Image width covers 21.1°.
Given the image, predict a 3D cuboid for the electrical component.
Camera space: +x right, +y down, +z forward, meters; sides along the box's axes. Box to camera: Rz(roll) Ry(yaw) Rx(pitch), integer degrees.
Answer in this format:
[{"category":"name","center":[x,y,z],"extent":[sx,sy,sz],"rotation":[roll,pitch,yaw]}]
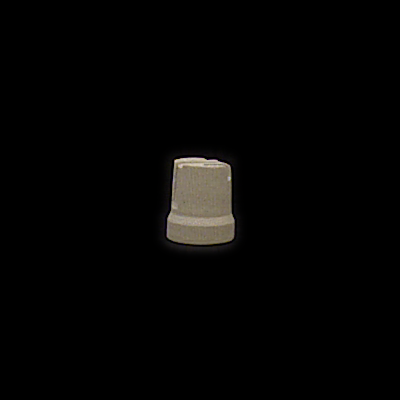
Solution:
[{"category":"electrical component","center":[0.000,0.000,0.646],"extent":[0.040,0.046,0.040],"rotation":[1,12,0]}]
